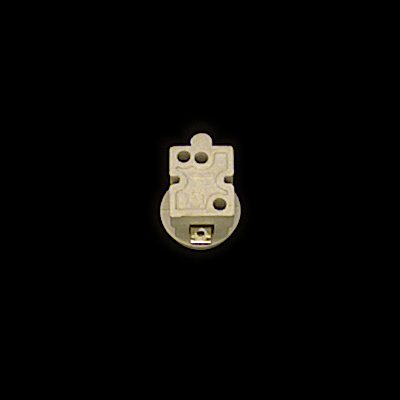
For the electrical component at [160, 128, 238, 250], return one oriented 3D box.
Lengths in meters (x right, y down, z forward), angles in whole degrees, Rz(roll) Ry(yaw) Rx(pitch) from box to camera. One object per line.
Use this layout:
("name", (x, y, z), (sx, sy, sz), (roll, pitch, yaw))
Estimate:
("electrical component", (0.000, 0.000, 0.637), (0.048, 0.066, 0.055), (0, -26, -1))
